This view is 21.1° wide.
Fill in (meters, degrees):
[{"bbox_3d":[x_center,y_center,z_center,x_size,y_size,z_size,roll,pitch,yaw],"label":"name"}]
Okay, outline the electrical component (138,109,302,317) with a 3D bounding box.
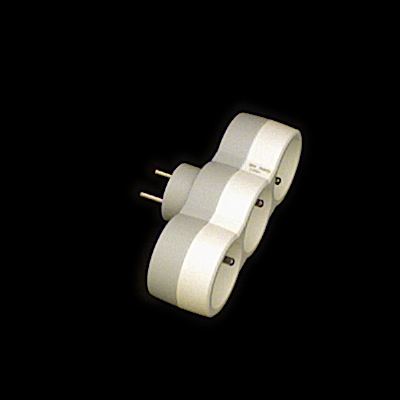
[{"bbox_3d":[0.000,0.000,0.640,0.073,0.138,0.052,21,-34,16],"label":"electrical component"}]
